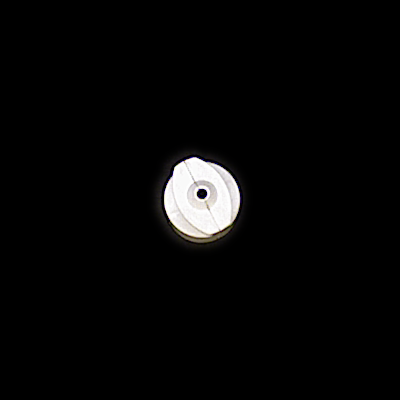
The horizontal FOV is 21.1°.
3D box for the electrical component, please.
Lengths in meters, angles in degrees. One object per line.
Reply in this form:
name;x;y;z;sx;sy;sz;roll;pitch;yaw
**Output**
electrical component;0.000;0.000;0.616;0.043;0.043;0.080;0;-6;1
